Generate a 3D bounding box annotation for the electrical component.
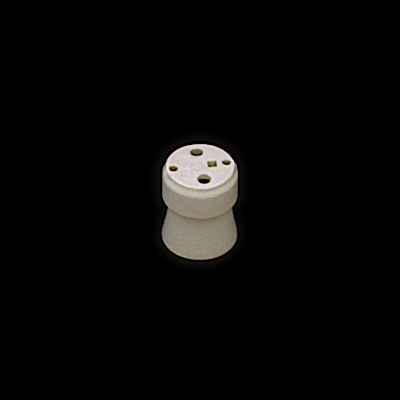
[{"bbox_3d":[0.000,0.000,0.631,0.045,0.055,0.044,0,43,0],"label":"electrical component"}]
